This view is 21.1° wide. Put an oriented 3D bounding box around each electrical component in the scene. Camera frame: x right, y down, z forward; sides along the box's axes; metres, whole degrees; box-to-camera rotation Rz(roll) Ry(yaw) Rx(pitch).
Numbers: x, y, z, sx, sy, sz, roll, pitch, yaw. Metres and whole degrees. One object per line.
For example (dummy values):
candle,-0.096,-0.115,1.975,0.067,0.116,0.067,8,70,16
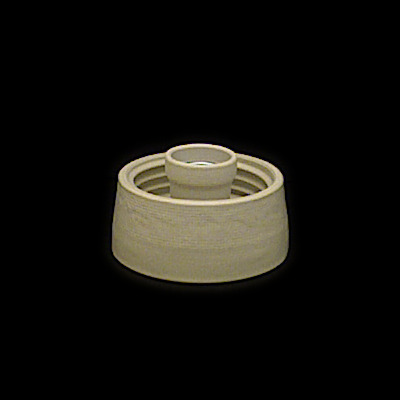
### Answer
electrical component,0.000,0.000,0.645,0.108,0.061,0.106,1,22,0
